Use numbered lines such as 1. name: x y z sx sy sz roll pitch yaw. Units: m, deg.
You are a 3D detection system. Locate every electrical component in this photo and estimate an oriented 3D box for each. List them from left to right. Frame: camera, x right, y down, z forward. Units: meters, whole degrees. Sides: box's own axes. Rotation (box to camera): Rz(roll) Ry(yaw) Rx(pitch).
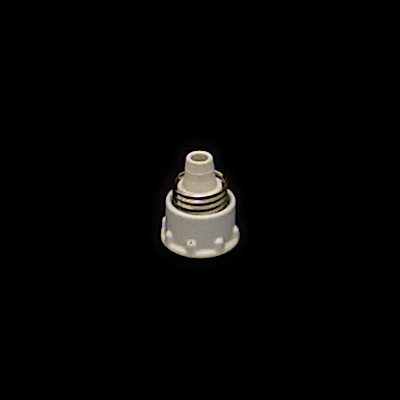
1. electrical component: 0.000 0.000 0.639 0.048 0.063 0.047 0 33 1
